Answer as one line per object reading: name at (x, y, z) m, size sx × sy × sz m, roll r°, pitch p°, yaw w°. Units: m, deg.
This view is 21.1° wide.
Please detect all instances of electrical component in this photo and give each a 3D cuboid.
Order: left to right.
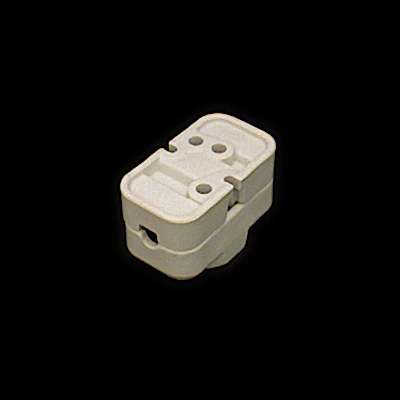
electrical component at (0.000, 0.000, 0.638) m, size 0.053 × 0.060 × 0.095 m, roll 28°, pitch 50°, yaw 27°
